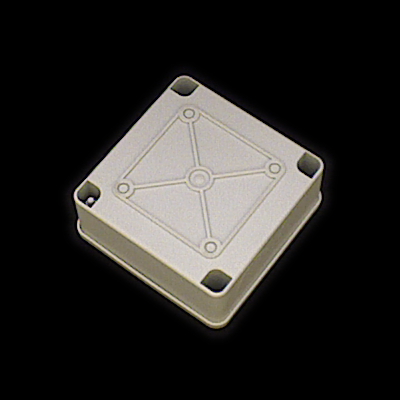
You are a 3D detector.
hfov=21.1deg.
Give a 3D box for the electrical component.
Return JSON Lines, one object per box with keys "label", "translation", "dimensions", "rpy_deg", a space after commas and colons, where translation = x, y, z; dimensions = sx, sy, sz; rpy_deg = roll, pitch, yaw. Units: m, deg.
{"label": "electrical component", "translation": [0.000, 0.000, 0.627], "dimensions": [0.108, 0.109, 0.056], "rpy_deg": [33, -22, 16]}
